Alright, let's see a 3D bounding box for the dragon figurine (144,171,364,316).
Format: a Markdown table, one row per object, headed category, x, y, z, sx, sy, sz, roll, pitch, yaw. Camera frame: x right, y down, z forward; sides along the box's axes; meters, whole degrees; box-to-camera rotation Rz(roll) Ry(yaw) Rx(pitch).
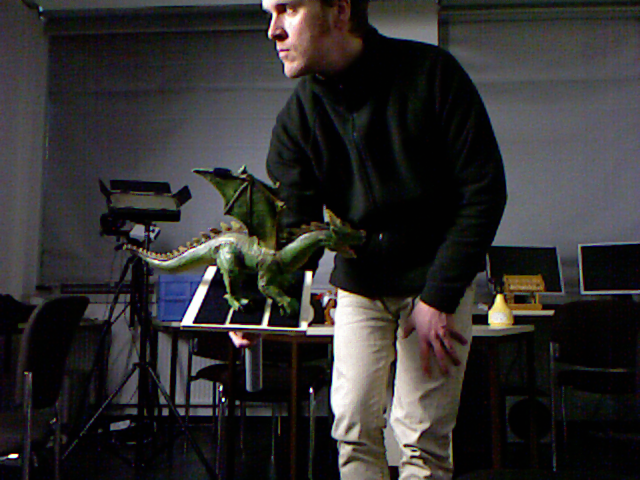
| category | x | y | z | sx | sy | sz | roll | pitch | yaw |
| --- | --- | --- | --- | --- | --- | --- | --- | --- | --- |
| dragon figurine | -0.132 | -0.010 | 0.860 | 0.411 | 0.238 | 0.125 | 10 | 32 | 12 |
